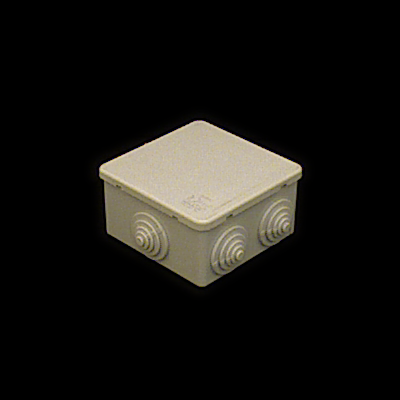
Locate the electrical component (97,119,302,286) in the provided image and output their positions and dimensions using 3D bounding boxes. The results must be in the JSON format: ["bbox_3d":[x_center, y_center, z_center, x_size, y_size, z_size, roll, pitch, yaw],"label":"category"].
[{"bbox_3d":[0.000,0.000,0.643,0.098,0.049,0.100,28,41,35],"label":"electrical component"}]
